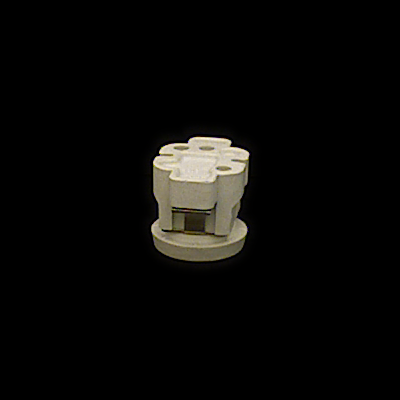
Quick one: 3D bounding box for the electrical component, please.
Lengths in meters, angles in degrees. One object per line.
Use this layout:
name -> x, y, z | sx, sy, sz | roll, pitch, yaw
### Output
electrical component -> 0.000, 0.000, 0.645 | 0.058, 0.057, 0.077 | 5, 23, 7
